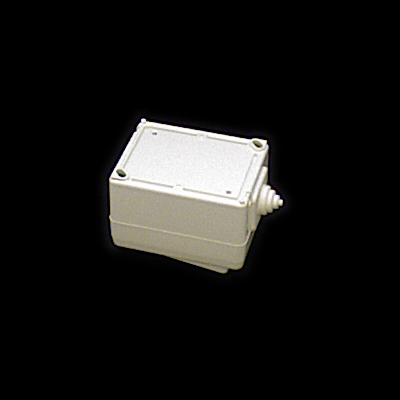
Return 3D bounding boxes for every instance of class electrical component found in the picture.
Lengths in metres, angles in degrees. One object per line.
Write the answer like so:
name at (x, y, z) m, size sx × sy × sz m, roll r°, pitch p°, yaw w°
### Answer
electrical component at (0.000, 0.000, 0.631) m, size 0.096 × 0.061 × 0.061 m, roll 11°, pitch 42°, yaw 11°
